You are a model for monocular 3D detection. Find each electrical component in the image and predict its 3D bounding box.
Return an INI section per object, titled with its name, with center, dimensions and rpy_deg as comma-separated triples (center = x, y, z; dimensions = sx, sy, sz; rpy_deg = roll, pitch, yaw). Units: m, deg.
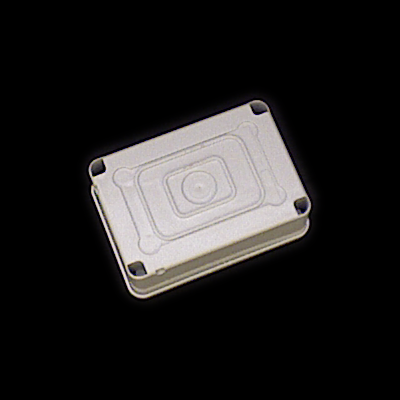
[electrical component]
center = 0.000, 0.000, 0.628
dimensions = 0.113, 0.078, 0.057
rpy_deg = -21, -16, -7
